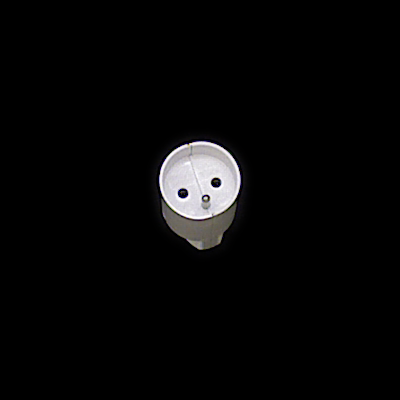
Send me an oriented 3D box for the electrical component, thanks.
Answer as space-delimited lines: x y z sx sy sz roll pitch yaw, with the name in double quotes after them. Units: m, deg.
0.000 0.000 0.615 0.043 0.043 0.080 0 -16 0 "electrical component"
